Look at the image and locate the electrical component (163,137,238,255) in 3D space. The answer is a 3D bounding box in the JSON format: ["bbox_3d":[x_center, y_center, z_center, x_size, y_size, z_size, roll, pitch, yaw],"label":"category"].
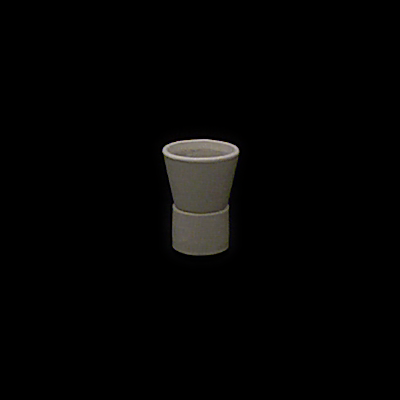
[{"bbox_3d":[0.000,0.000,0.640,0.044,0.066,0.044,0,20,0],"label":"electrical component"}]
